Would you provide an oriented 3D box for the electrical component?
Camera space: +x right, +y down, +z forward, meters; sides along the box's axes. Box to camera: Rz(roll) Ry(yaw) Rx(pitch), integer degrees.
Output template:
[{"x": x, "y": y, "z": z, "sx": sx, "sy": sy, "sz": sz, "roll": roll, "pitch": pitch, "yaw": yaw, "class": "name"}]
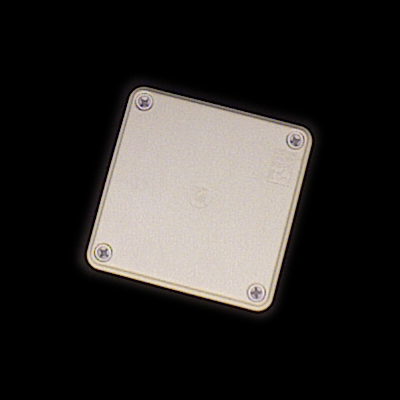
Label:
[{"x": 0.000, "y": 0.000, "z": 0.631, "sx": 0.109, "sy": 0.109, "sz": 0.056, "roll": 14, "pitch": -6, "yaw": 2, "class": "electrical component"}]
